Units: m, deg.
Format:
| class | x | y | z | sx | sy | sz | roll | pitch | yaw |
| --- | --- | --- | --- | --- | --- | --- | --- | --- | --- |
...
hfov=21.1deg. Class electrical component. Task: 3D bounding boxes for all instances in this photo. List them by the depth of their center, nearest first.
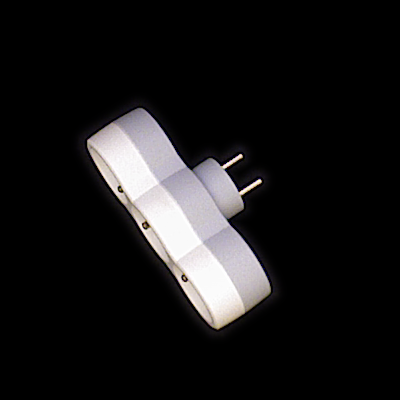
| class | x | y | z | sx | sy | sz | roll | pitch | yaw |
| --- | --- | --- | --- | --- | --- | --- | --- | --- | --- |
| electrical component | 0.000 | 0.000 | 0.631 | 0.074 | 0.138 | 0.052 | -33 | -15 | -11 |
